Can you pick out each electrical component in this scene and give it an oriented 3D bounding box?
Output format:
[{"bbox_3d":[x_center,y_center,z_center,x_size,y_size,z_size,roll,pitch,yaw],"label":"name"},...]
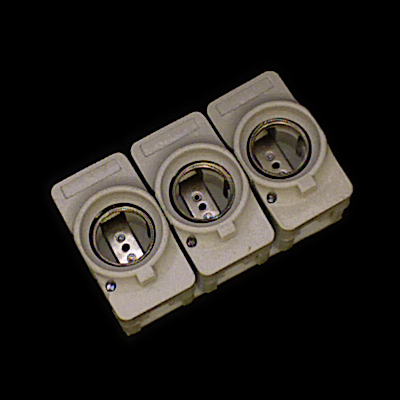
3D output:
[{"bbox_3d":[0.000,0.000,0.631,0.150,0.089,0.062,-29,-14,-8],"label":"electrical component"}]
